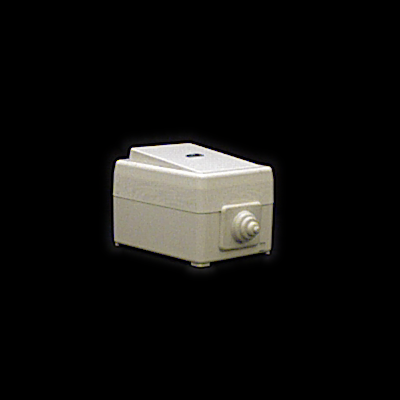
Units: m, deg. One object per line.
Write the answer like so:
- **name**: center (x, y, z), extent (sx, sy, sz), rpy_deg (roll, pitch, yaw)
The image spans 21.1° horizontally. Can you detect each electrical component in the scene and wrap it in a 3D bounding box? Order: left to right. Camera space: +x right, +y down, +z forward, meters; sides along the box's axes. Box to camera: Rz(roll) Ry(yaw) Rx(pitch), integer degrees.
- **electrical component**: center (0.000, 0.000, 0.642), extent (0.061, 0.061, 0.096), rpy_deg (-9, 14, -43)
